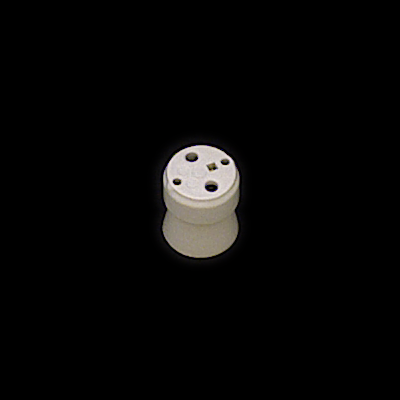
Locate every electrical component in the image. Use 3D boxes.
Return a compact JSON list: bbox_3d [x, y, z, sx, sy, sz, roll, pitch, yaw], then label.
[{"bbox_3d":[0.000,0.000,0.629,0.045,0.044,0.055,0,-37,0],"label":"electrical component"}]
